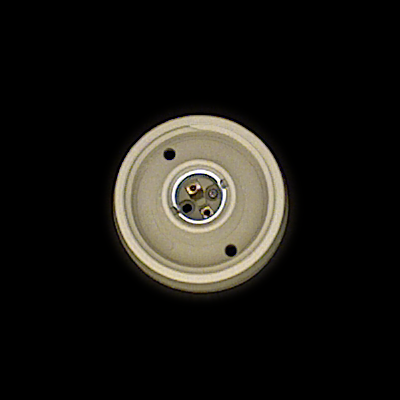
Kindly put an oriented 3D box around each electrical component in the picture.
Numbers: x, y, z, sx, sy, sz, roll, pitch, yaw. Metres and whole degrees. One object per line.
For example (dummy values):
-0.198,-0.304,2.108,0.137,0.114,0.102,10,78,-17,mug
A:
0.000,0.000,0.635,0.108,0.108,0.060,0,-6,0,electrical component
